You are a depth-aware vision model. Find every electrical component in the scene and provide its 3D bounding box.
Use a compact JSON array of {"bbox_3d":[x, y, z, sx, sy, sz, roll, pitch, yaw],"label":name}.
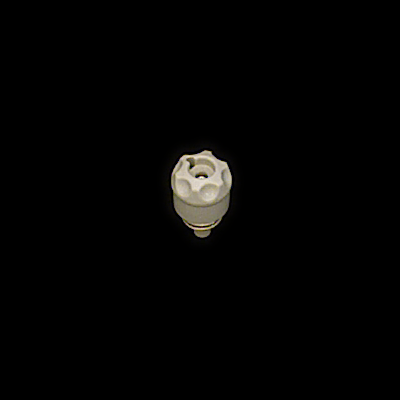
[{"bbox_3d":[0.000,0.000,0.636,0.035,0.035,0.062,0,-37,0],"label":"electrical component"}]
